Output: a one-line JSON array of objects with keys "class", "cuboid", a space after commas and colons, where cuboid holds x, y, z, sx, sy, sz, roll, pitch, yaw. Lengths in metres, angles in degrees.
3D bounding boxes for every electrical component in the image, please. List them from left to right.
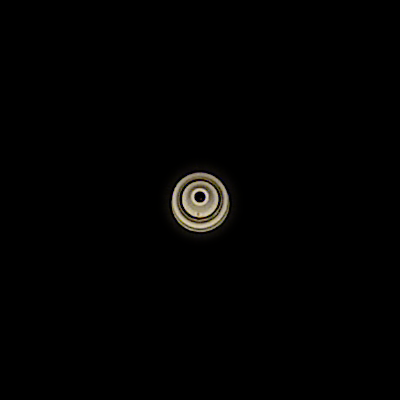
[{"class": "electrical component", "cuboid": [0.000, 0.000, 0.638, 0.035, 0.035, 0.061, 0, -4, 0]}]
